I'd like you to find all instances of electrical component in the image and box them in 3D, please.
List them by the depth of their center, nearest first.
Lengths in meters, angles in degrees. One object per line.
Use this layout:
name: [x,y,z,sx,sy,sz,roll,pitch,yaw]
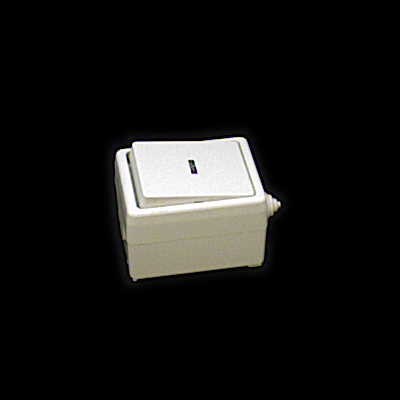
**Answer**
electrical component: [0.000,0.000,0.630,0.096,0.061,0.061,-6,42,-8]
